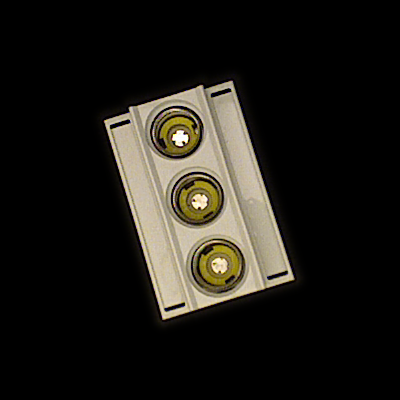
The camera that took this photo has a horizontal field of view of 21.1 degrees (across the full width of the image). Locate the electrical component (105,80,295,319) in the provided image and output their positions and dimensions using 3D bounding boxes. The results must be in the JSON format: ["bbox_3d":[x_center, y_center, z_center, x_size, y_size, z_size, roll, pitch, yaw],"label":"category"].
[{"bbox_3d":[0.000,0.000,0.637,0.079,0.121,0.063,-17,-6,0],"label":"electrical component"}]
